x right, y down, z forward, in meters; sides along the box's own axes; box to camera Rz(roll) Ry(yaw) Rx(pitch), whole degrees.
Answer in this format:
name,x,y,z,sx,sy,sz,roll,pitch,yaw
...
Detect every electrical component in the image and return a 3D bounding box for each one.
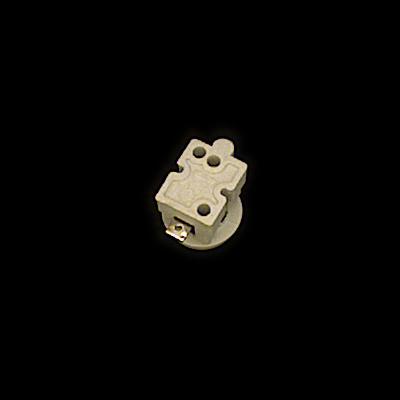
name,x,y,z,sx,sy,sz,roll,pitch,yaw
electrical component,0.000,0.000,0.638,0.048,0.067,0.055,27,-23,12
